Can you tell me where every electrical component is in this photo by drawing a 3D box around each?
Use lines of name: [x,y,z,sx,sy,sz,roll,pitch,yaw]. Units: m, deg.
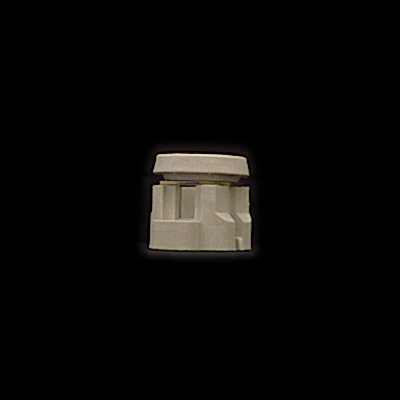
electrical component: [0.000,0.000,0.652,0.057,0.057,0.079,2,1,30]
